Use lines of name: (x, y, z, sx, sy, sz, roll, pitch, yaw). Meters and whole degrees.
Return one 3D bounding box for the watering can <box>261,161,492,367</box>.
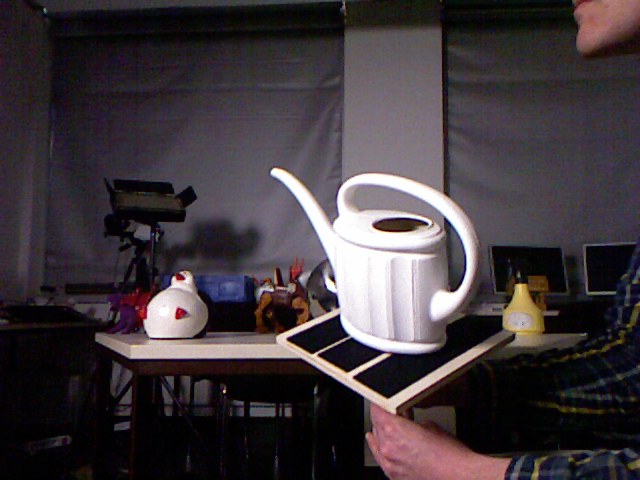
watering can: (0.049, 0.016, 0.626, 0.106, 0.222, 0.353, -20, 26, -36)
